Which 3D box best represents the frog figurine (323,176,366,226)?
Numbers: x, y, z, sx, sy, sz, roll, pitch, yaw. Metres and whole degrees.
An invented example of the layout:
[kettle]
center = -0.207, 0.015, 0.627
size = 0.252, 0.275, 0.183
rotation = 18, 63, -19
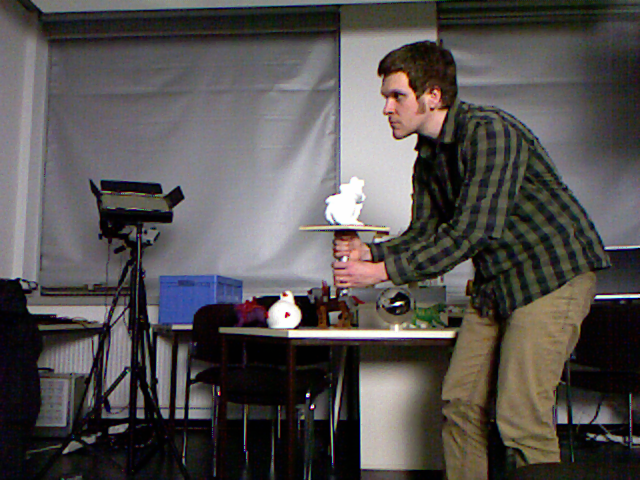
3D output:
[frog figurine]
center = 0.077, -0.122, 1.612
size = 0.137, 0.160, 0.123
rotation = 4, -1, -24
